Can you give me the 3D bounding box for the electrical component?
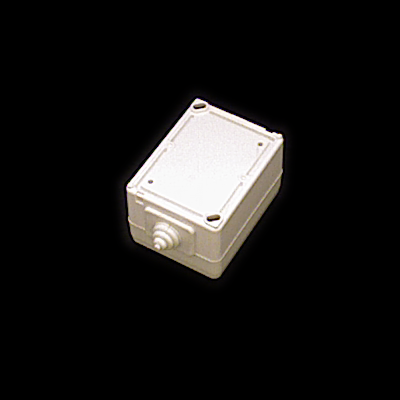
[{"bbox_3d":[0.000,0.000,0.629,0.061,0.096,0.061,25,-33,18],"label":"electrical component"}]
